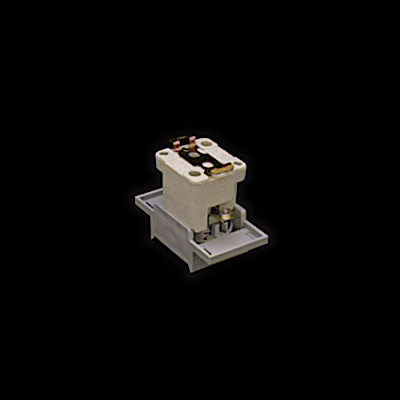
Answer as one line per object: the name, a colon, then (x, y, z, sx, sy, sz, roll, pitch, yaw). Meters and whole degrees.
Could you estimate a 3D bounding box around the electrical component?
electrical component: (0.000, 0.000, 0.634, 0.042, 0.064, 0.080, -20, 37, -30)
